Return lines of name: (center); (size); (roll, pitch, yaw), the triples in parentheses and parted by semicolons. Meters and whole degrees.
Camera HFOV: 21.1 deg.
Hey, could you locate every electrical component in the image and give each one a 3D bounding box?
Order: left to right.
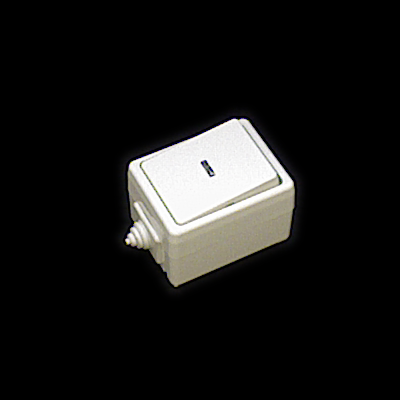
electrical component: (0.000, 0.000, 0.627); (0.096, 0.061, 0.061); (-22, -34, -17)
